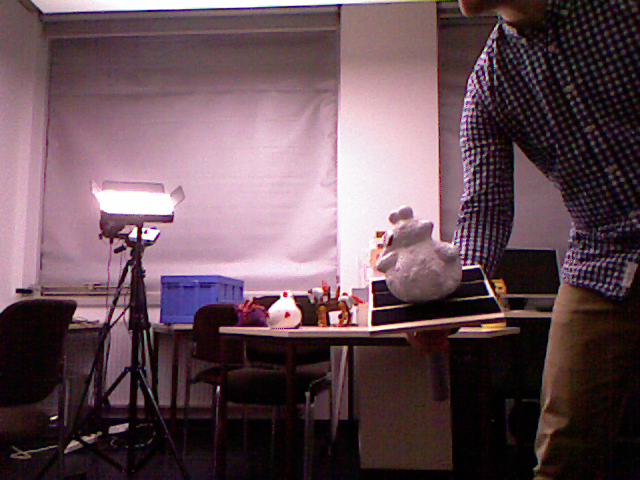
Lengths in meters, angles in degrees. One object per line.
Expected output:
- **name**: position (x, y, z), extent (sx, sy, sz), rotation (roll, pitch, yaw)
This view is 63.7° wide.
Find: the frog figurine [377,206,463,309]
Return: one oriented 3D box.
- **frog figurine**: position (0.164, 0.026, 0.853), extent (0.137, 0.157, 0.125), rotation (-1, 25, 20)
